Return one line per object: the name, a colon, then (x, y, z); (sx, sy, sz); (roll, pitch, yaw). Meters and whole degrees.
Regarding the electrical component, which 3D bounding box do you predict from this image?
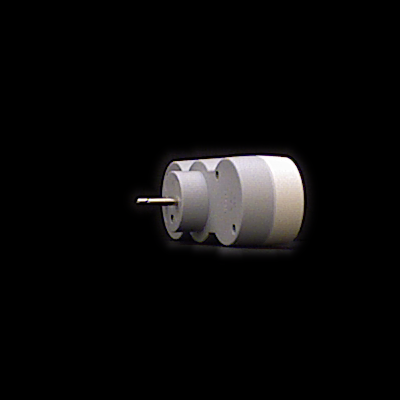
electrical component: (0.000, 0.000, 0.647); (0.074, 0.052, 0.138); (-1, 2, -21)
